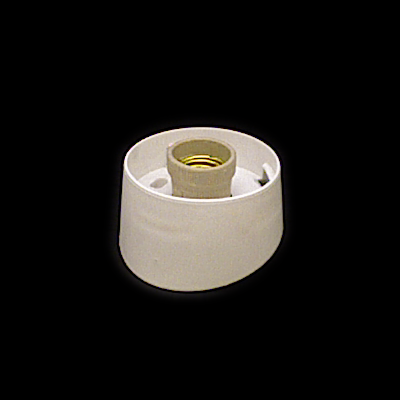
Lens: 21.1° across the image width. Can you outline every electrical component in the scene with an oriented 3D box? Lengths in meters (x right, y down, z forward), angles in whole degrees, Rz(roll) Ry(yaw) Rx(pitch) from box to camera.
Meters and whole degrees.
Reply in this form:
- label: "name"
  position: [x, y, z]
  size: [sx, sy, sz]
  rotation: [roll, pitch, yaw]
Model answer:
- label: "electrical component"
  position: [0.000, 0.000, 0.634]
  size: [0.099, 0.065, 0.097]
  rotation: [1, 32, 0]
